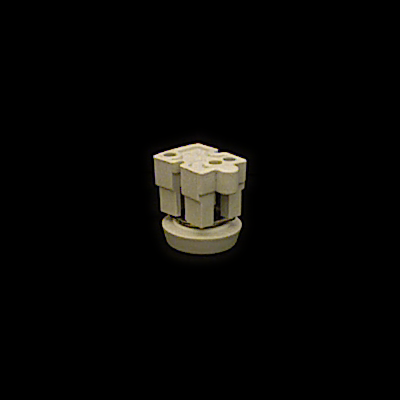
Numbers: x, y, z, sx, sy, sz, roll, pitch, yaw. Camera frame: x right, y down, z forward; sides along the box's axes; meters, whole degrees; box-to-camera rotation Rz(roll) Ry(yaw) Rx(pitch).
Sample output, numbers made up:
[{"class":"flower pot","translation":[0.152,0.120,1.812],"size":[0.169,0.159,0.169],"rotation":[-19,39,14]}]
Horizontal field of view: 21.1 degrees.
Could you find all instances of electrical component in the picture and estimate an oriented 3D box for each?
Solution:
[{"class":"electrical component","translation":[0.000,0.000,0.647],"size":[0.048,0.056,0.065],"rotation":[-19,28,-37]}]
